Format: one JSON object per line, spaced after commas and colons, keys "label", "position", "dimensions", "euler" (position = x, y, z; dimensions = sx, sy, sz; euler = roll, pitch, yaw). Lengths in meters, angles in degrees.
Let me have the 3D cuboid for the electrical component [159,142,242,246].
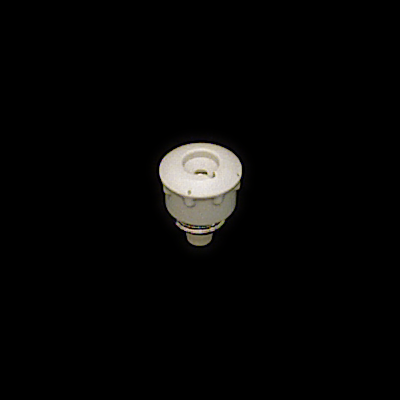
{"label": "electrical component", "position": [0.000, 0.000, 0.638], "dimensions": [0.048, 0.062, 0.047], "euler": [1, 43, 0]}
